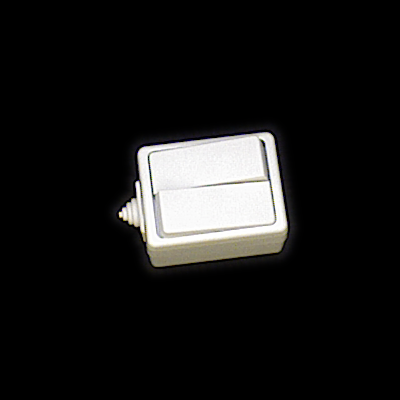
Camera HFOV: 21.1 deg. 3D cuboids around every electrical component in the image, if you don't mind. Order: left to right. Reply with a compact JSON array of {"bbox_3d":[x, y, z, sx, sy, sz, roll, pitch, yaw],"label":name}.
[{"bbox_3d":[0.000,0.000,0.626,0.096,0.062,0.060,-7,-17,-2],"label":"electrical component"}]
